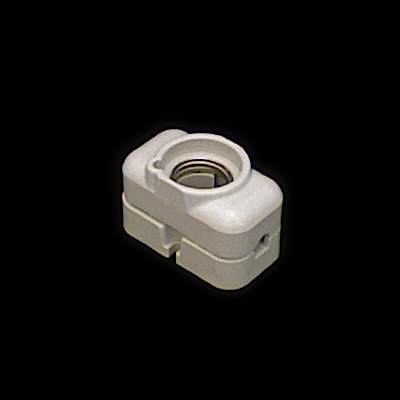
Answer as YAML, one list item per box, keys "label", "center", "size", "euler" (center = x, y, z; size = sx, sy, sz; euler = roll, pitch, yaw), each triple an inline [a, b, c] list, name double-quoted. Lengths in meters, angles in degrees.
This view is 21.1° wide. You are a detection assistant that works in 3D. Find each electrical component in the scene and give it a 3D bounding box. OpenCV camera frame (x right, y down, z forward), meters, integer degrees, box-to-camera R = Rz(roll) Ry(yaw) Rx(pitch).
- label: "electrical component"
  center: [0.000, 0.000, 0.637]
  size: [0.094, 0.060, 0.054]
  euler: [30, 50, 28]
